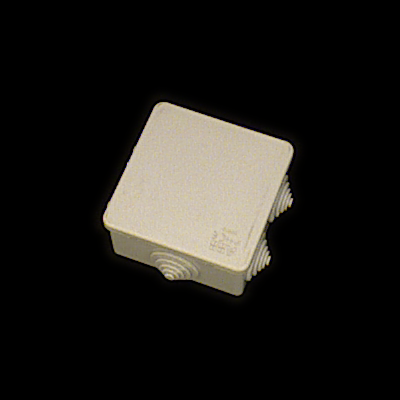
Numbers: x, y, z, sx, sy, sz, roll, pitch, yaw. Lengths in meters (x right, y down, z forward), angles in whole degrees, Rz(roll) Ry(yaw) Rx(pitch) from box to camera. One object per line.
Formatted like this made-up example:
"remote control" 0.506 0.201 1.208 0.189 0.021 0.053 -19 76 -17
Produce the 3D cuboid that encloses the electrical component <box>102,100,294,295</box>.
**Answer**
"electrical component" 0.000 0.000 0.639 0.099 0.100 0.048 19 -25 9
